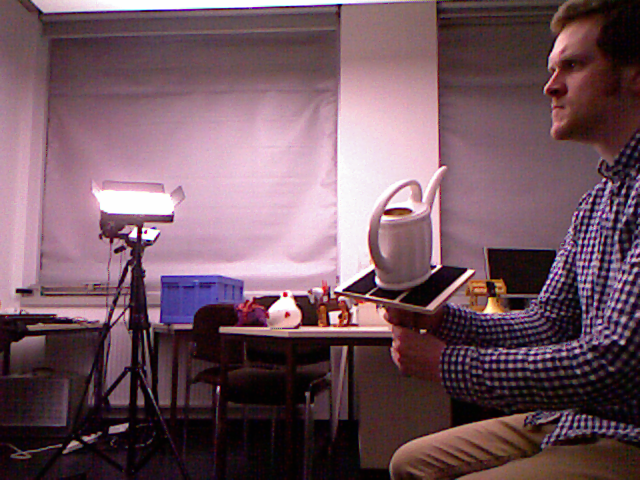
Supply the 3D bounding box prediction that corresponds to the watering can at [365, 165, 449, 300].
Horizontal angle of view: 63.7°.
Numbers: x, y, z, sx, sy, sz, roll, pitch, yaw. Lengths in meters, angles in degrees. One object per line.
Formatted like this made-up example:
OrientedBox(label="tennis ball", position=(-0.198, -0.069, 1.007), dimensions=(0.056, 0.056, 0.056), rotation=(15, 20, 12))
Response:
OrientedBox(label="watering can", position=(0.183, -0.020, 1.008), dimensions=(0.104, 0.221, 0.353), rotation=(11, 24, 33))
